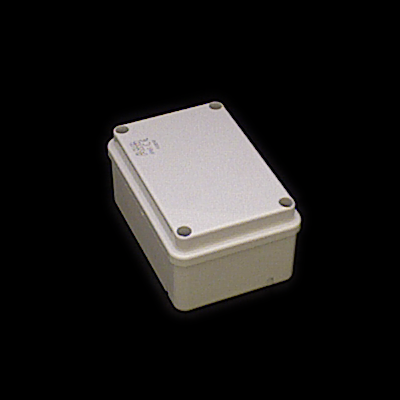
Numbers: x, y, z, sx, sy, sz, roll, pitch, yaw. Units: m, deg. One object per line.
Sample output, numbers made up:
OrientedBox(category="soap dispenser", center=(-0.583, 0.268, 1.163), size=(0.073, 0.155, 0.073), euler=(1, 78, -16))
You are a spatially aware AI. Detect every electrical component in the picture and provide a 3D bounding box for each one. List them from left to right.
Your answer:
OrientedBox(category="electrical component", center=(0.000, 0.000, 0.630), size=(0.078, 0.057, 0.112), euler=(-16, 45, -18))
